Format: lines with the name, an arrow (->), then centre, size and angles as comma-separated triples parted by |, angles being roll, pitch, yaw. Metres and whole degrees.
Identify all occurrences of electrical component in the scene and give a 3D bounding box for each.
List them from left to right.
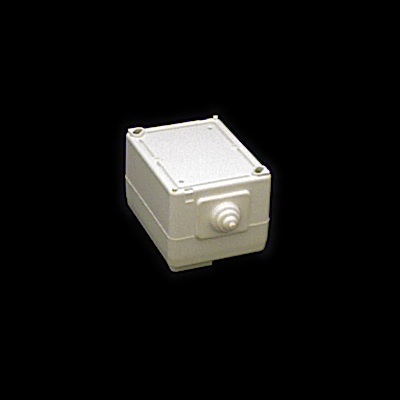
electrical component -> 0.000, 0.000, 0.629 | 0.061, 0.061, 0.095 | -11, 33, -20
